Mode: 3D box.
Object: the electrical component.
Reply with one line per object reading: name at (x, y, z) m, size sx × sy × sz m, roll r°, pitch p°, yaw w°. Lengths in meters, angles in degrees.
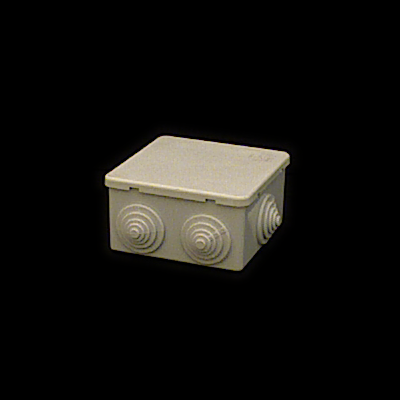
electrical component at (0.000, 0.000, 0.649) m, size 0.099 × 0.049 × 0.099 m, roll 9°, pitch 23°, yaw 19°
